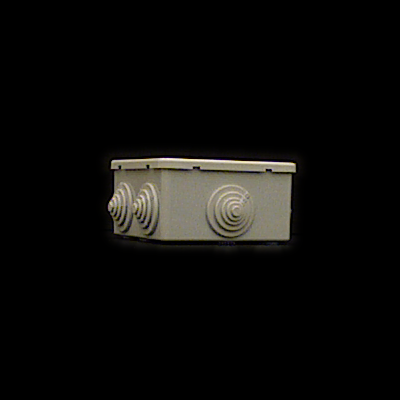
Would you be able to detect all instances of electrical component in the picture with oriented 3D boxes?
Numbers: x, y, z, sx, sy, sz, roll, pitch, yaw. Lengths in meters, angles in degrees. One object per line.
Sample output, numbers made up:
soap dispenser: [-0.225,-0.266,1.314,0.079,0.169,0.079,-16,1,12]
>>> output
electrical component: [0.000,0.000,0.657,0.100,0.048,0.099,1,1,-25]
